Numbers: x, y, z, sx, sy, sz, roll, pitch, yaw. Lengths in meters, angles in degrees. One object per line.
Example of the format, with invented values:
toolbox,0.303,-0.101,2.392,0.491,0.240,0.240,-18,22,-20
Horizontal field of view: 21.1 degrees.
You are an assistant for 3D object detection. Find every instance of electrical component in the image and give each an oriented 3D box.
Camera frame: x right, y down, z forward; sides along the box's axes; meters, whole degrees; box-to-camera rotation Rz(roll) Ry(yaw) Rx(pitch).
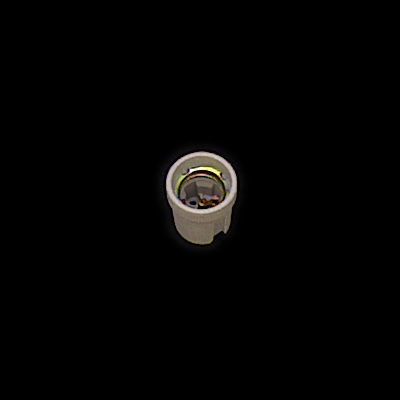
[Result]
electrical component,0.000,0.000,0.628,0.040,0.040,0.046,0,-28,0
